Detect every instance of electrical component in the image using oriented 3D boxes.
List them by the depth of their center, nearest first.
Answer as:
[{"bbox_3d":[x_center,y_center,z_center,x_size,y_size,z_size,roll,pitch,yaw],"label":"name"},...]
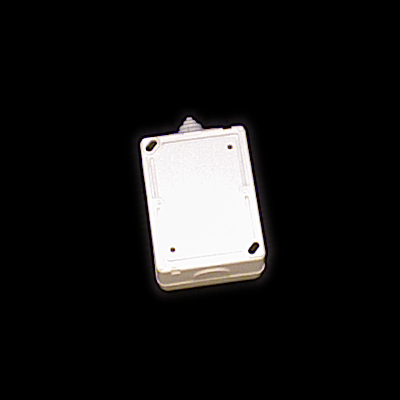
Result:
[{"bbox_3d":[0.000,0.000,0.628,0.062,0.096,0.060,-8,-18,-2],"label":"electrical component"}]
